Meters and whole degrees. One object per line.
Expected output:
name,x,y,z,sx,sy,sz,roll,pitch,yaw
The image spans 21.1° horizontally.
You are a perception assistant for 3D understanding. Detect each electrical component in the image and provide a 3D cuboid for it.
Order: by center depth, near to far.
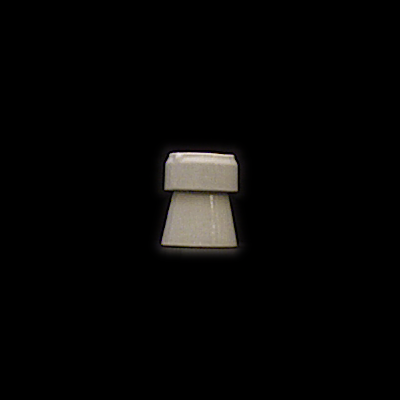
electrical component,0.000,0.000,0.649,0.045,0.055,0.044,1,2,0
